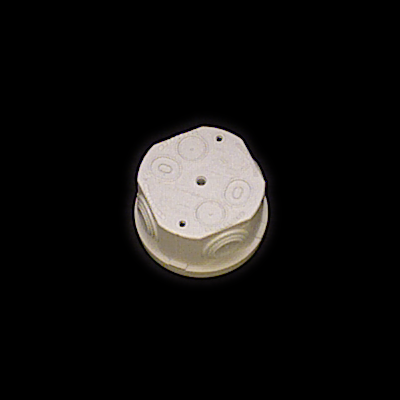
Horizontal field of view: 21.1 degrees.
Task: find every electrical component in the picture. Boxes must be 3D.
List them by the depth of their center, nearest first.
[{"bbox_3d":[0.000,0.000,0.632,0.080,0.080,0.050,0,-28,0],"label":"electrical component"}]
